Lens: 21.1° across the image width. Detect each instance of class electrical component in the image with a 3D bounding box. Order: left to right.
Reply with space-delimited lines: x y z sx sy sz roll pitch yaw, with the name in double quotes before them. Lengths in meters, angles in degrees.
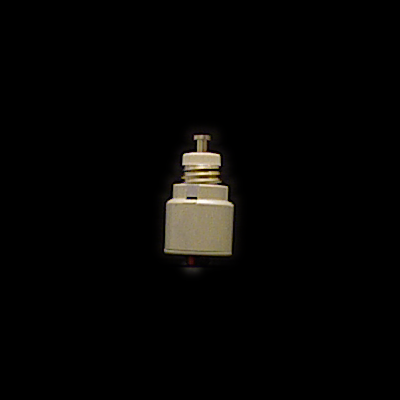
"electrical component" 0.000 0.000 0.650 0.040 0.078 0.040 2 1 0
